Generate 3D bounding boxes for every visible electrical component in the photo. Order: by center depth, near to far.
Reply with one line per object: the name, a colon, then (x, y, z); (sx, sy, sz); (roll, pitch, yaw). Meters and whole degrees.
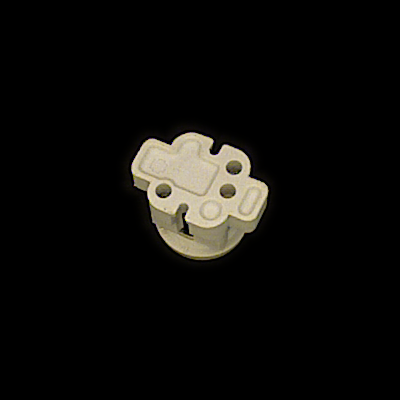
electrical component: (0.000, 0.000, 0.635); (0.078, 0.058, 0.057); (21, -24, 12)
